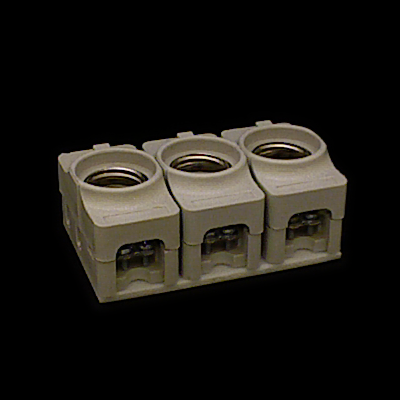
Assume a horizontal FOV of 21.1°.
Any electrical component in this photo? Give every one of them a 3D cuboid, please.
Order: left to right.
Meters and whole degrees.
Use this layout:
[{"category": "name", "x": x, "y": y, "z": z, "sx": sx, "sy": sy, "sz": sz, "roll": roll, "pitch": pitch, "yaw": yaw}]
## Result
[{"category": "electrical component", "x": 0.000, "y": 0.000, "z": 0.641, "sx": 0.150, "sy": 0.063, "sz": 0.087, "roll": -9, "pitch": 32, "yaw": -17}]
